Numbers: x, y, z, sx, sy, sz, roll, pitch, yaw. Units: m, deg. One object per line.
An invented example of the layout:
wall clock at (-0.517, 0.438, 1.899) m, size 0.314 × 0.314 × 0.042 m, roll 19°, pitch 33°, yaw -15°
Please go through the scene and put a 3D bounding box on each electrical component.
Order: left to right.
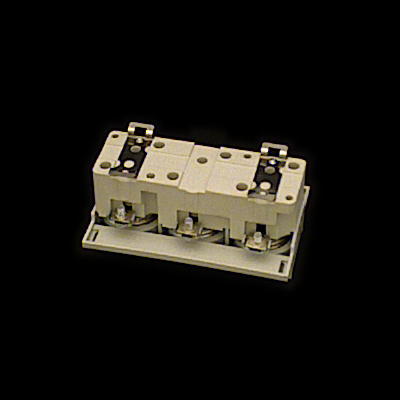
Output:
electrical component at (0.000, 0.000, 0.635) m, size 0.121 × 0.063 × 0.078 m, roll 9°, pitch 44°, yaw 9°
